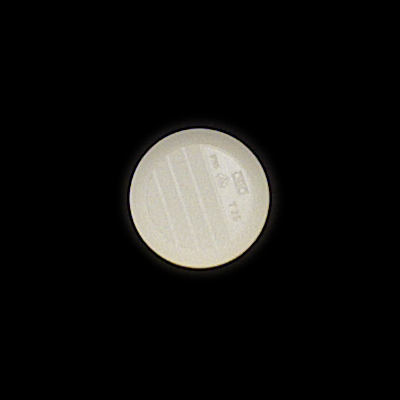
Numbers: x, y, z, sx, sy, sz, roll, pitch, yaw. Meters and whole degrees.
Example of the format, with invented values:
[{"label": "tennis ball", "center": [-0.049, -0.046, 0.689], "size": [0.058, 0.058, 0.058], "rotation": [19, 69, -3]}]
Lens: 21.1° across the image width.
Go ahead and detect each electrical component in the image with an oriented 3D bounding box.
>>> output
[{"label": "electrical component", "center": [0.000, 0.000, 0.631], "size": [0.080, 0.080, 0.050], "rotation": [0, -7, 0]}]
